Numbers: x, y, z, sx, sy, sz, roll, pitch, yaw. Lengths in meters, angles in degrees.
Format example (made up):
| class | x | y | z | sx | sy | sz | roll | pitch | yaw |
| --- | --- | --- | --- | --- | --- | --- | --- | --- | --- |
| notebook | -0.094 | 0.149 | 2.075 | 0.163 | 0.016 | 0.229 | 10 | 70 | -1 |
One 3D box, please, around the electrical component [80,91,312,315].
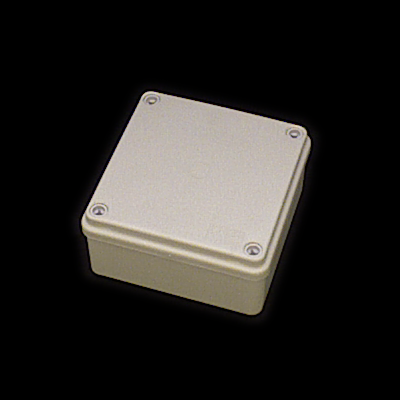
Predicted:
| class | x | y | z | sx | sy | sz | roll | pitch | yaw |
| --- | --- | --- | --- | --- | --- | --- | --- | --- | --- |
| electrical component | 0.000 | 0.000 | 0.631 | 0.108 | 0.108 | 0.056 | 14 | -37 | 10 |
